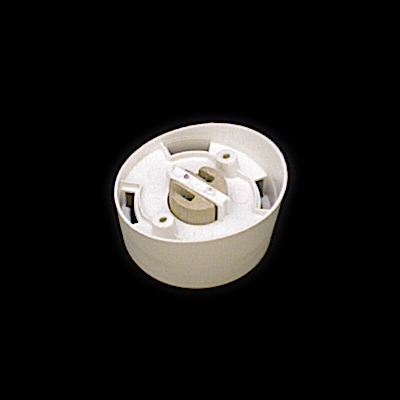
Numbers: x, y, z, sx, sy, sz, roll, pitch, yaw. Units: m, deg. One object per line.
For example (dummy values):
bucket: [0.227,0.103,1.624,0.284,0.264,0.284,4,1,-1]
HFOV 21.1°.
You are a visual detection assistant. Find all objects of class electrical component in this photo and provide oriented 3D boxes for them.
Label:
electrical component: [0.000,0.000,0.626,0.099,0.098,0.064,0,-37,-2]
